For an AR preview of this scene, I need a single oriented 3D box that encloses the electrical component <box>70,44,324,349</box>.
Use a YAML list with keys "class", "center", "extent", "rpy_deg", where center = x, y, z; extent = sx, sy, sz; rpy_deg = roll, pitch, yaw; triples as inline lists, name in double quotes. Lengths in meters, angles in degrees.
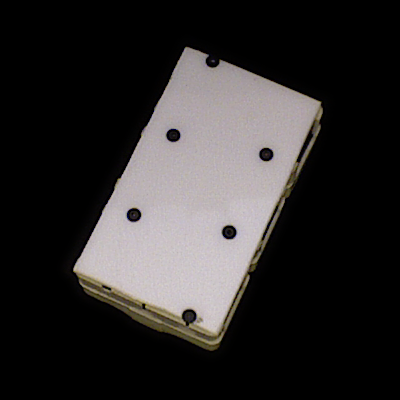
- class: "electrical component"
  center: [0.000, 0.000, 0.631]
  extent: [0.089, 0.150, 0.062]
  rpy_deg: [24, -16, 7]
